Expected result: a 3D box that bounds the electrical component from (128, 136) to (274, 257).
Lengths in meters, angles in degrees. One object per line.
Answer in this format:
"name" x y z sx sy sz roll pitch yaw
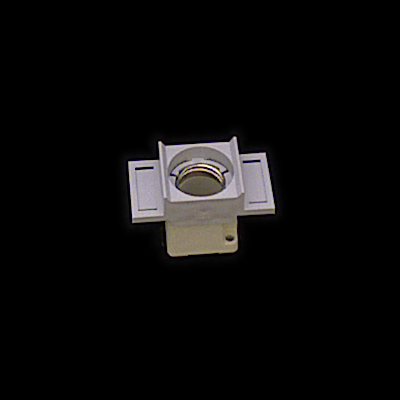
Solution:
"electrical component" 0.000 0.000 0.625 0.081 0.042 0.064 -4 -37 -4
